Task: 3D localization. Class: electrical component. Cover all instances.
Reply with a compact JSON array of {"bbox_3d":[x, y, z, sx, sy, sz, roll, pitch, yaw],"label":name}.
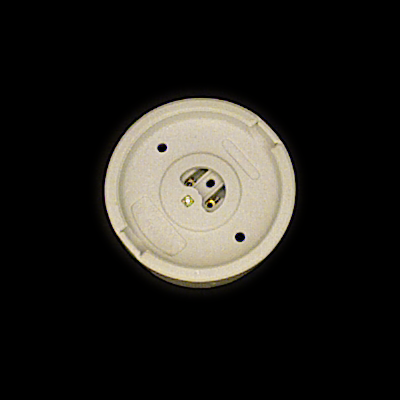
[{"bbox_3d":[0.000,0.000,0.633,0.108,0.108,0.060,0,-16,0],"label":"electrical component"}]
